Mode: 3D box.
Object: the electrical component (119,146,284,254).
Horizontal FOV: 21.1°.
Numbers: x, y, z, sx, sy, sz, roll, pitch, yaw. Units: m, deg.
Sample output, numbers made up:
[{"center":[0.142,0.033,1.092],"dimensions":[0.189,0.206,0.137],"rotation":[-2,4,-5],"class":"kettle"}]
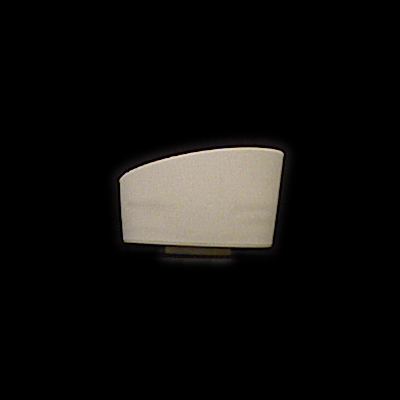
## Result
[{"center":[0.000,0.000,0.650],"dimensions":[0.099,0.064,0.099],"rotation":[2,0,0],"class":"electrical component"}]
